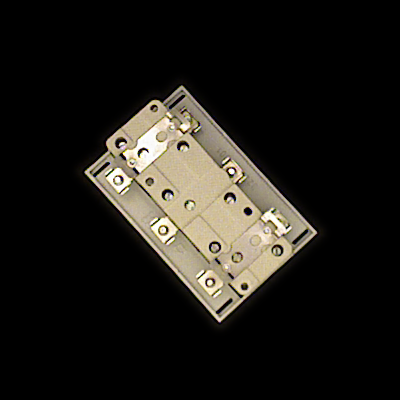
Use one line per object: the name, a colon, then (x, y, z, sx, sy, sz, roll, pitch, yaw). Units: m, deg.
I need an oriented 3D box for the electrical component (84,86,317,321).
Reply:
electrical component: (0.000, 0.000, 0.635, 0.079, 0.121, 0.063, -42, -4, -4)
